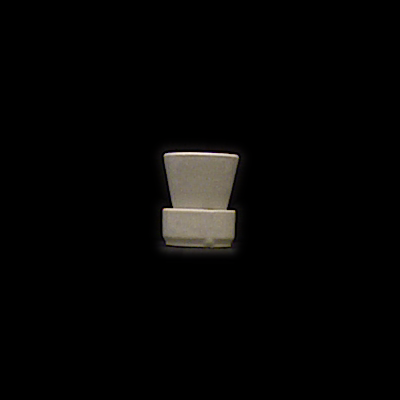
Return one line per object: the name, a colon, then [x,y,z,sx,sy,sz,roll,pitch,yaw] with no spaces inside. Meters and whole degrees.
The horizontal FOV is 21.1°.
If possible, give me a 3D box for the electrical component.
electrical component: [0.000,0.000,0.651,0.045,0.055,0.045,2,1,0]
